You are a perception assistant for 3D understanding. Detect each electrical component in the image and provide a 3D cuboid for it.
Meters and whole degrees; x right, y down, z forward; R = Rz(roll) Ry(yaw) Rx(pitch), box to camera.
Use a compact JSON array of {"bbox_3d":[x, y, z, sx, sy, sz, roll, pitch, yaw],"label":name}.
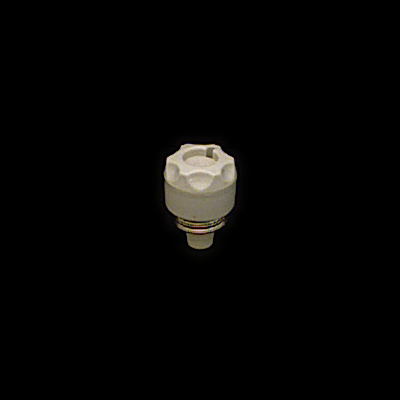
[{"bbox_3d":[0.000,0.000,0.640,0.043,0.063,0.043,1,33,0],"label":"electrical component"}]
